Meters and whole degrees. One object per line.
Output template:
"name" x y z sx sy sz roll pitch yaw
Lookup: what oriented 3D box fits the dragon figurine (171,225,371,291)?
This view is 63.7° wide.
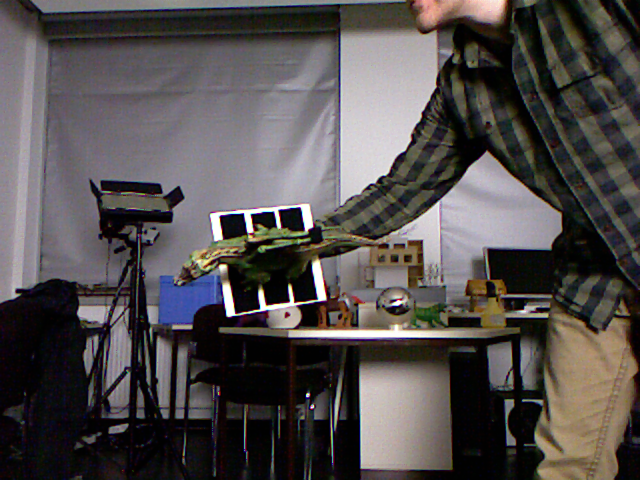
"dragon figurine" -0.057 0.017 0.912 0.413 0.123 0.241 -12 -2 -19
